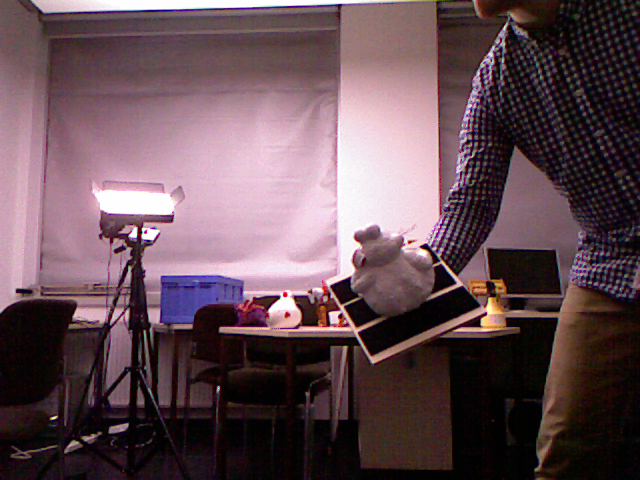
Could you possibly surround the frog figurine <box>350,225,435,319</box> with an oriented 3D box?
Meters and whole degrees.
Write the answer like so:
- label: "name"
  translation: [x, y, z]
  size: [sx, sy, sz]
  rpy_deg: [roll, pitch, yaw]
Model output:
- label: "frog figurine"
  translation: [0.115, 0.046, 0.826]
  size: [0.137, 0.126, 0.156]
  rpy_deg: [-12, -43, 2]
